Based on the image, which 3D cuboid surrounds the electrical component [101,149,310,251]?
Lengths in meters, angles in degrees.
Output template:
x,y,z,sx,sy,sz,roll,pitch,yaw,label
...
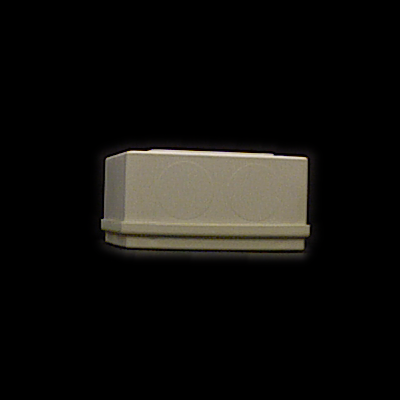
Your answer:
x,y,z,sx,sy,sz,roll,pitch,yaw,label
0.000,0.000,0.649,0.109,0.056,0.108,1,0,-12,electrical component
